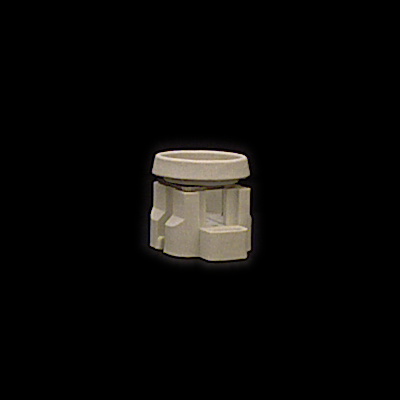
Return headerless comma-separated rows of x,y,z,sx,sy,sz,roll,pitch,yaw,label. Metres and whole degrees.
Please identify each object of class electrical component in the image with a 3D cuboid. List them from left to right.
0.000,0.000,0.645,0.058,0.057,0.077,-5,12,-27,electrical component
